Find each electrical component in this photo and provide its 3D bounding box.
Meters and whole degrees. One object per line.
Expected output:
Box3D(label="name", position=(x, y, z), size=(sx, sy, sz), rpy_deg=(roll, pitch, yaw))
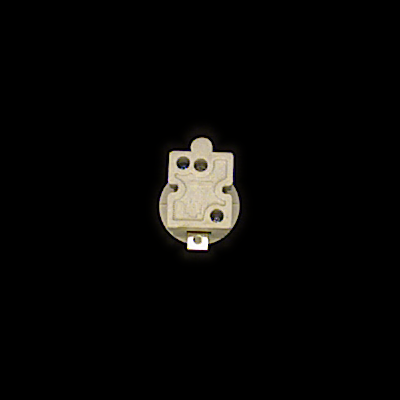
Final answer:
Box3D(label="electrical component", position=(0.000, 0.000, 0.637), size=(0.048, 0.066, 0.055), rpy_deg=(2, -15, 0))
